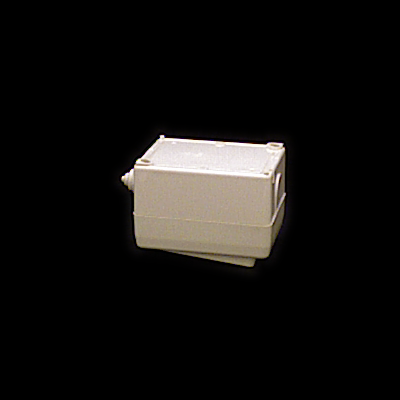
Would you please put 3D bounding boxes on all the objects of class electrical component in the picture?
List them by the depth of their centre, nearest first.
[{"bbox_3d":[0.000,0.000,0.642,0.096,0.061,0.061,5,21,11],"label":"electrical component"}]
